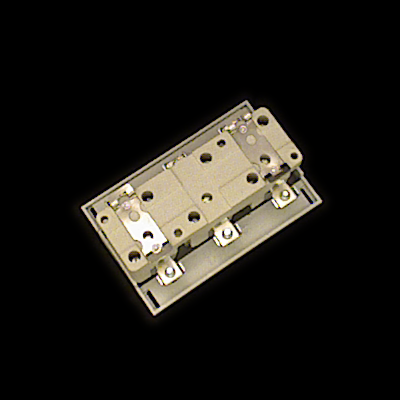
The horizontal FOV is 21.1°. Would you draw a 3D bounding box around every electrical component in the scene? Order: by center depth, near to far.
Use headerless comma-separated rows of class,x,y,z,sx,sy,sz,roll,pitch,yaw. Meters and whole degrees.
electrical component,0.000,0.000,0.634,0.122,0.078,0.063,-34,-14,-9
